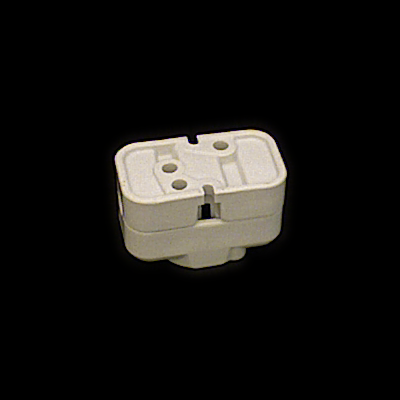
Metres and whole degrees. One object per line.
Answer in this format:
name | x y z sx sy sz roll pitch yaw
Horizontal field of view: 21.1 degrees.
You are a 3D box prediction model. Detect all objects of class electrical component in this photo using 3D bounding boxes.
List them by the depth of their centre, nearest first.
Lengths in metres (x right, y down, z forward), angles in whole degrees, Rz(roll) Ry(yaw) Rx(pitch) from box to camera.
electrical component | 0.000 0.000 0.637 0.095 0.060 0.053 -7 43 -10
